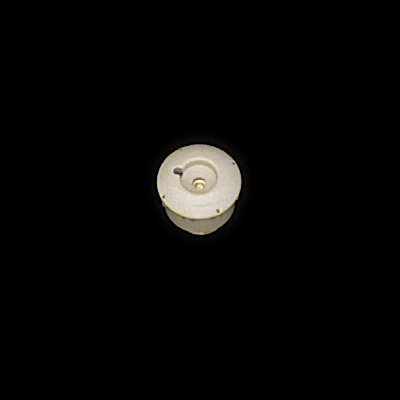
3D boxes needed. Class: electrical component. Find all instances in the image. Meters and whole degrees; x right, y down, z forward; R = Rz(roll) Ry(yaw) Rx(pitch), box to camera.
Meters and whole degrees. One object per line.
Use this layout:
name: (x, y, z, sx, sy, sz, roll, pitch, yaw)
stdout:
electrical component: (0.000, 0.000, 0.632, 0.048, 0.048, 0.062, 0, -27, 0)
